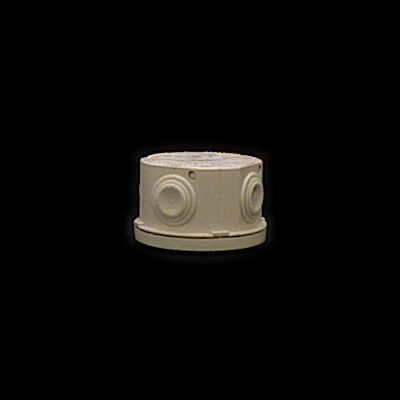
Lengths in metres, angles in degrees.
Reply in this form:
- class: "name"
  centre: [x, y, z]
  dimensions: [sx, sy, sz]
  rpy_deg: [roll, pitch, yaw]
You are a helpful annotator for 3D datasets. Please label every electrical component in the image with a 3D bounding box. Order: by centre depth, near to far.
- class: "electrical component"
  centre: [0.000, 0.000, 0.646]
  dimensions: [0.080, 0.051, 0.079]
  rpy_deg: [1, 10, 0]
